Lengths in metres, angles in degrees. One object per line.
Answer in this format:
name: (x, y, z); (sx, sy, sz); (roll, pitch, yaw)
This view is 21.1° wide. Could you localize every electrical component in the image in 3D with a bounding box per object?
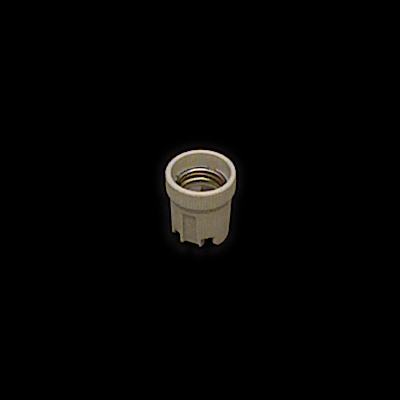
electrical component: (0.000, 0.000, 0.631); (0.040, 0.047, 0.039); (1, 42, 0)
